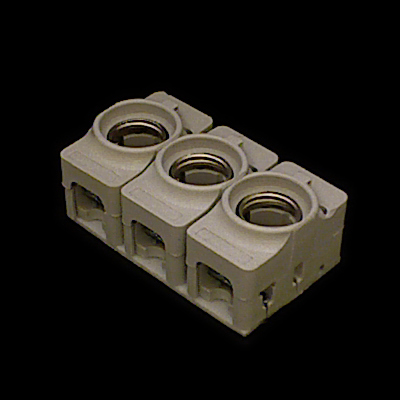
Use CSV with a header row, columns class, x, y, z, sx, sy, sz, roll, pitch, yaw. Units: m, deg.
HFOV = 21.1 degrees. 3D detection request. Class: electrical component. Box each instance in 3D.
class,x,y,z,sx,sy,sz,roll,pitch,yaw
electrical component,0.000,0.000,0.638,0.148,0.063,0.089,32,49,29
